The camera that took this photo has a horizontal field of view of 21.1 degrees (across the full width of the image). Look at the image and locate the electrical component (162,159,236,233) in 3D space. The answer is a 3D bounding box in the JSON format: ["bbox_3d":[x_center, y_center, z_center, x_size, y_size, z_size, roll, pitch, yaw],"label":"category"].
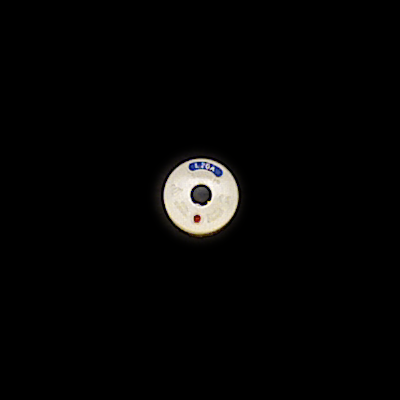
[{"bbox_3d":[0.000,0.000,0.617,0.040,0.040,0.078,0,-5,1],"label":"electrical component"}]
